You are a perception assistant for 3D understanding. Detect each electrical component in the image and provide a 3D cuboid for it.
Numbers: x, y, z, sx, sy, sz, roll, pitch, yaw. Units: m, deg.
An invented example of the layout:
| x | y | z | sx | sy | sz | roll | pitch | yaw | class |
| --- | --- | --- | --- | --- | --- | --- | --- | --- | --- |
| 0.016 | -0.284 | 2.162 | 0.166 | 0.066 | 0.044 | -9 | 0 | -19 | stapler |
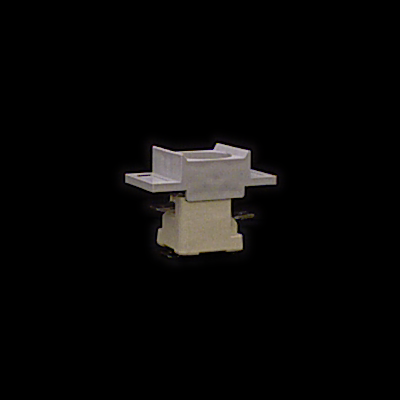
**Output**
| x | y | z | sx | sy | sz | roll | pitch | yaw | class |
| --- | --- | --- | --- | --- | --- | --- | --- | --- | --- |
| 0.000 | 0.000 | 0.645 | 0.081 | 0.064 | 0.042 | -4 | 11 | -25 | electrical component |
